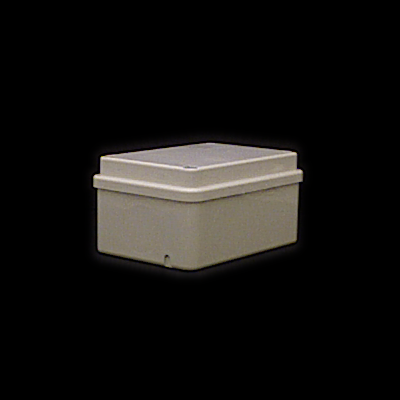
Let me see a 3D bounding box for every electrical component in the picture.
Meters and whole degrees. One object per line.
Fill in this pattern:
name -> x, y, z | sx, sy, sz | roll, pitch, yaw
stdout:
electrical component -> 0.000, 0.000, 0.645 | 0.077, 0.057, 0.113 | 9, 13, 37
